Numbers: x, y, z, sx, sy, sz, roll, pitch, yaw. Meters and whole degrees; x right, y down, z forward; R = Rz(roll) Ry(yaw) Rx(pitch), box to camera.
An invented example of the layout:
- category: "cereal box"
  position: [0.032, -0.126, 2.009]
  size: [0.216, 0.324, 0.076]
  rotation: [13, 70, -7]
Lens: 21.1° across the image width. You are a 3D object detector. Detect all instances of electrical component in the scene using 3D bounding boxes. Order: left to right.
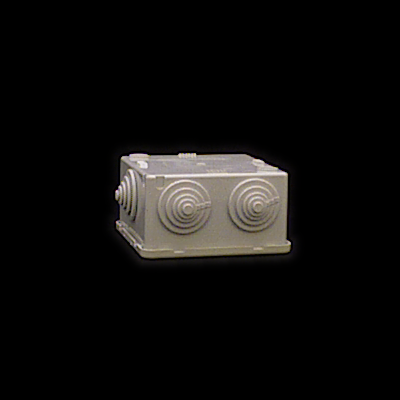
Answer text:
- category: "electrical component"
  position: [0.000, 0.000, 0.644]
  size: [0.100, 0.049, 0.099]
  rotation: [-2, 11, -15]
